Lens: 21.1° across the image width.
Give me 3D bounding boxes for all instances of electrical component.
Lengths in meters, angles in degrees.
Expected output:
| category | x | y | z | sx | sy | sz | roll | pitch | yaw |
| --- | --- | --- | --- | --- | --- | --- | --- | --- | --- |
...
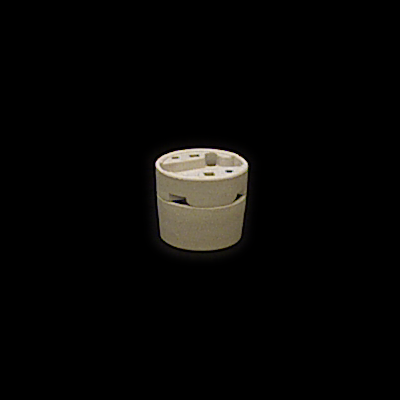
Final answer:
| category | x | y | z | sx | sy | sz | roll | pitch | yaw |
| --- | --- | --- | --- | --- | --- | --- | --- | --- | --- |
| electrical component | 0.000 | 0.000 | 0.640 | 0.055 | 0.047 | 0.055 | 1 | 21 | 0 |
